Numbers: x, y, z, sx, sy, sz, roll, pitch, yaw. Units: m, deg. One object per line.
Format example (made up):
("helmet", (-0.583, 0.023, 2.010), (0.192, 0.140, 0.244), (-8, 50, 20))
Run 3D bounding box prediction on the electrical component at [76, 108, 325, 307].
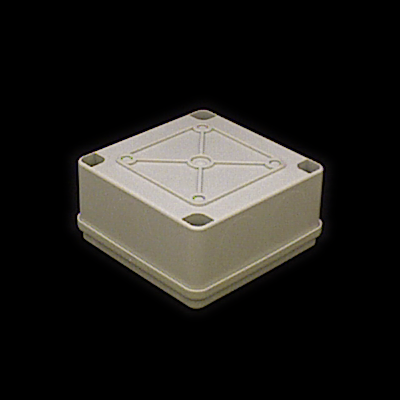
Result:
("electrical component", (0.000, 0.000, 0.636), (0.108, 0.057, 0.108), (-26, 41, -37))
